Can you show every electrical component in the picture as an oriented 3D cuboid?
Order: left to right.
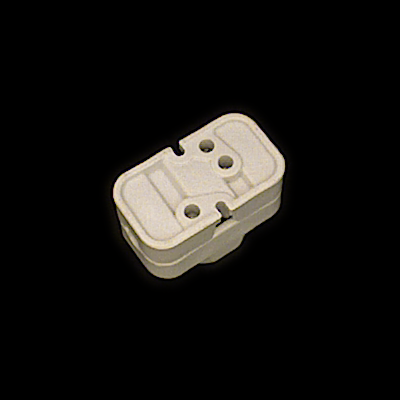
[{"bbox_3d":[0.000,0.000,0.635,0.096,0.053,0.059,-32,-23,-14],"label":"electrical component"}]
